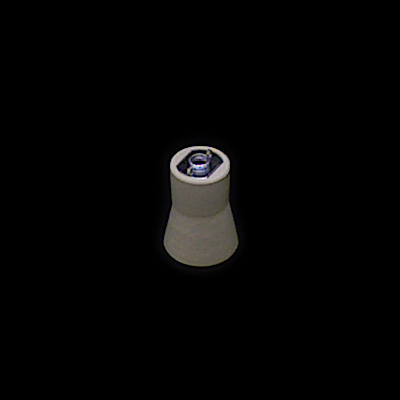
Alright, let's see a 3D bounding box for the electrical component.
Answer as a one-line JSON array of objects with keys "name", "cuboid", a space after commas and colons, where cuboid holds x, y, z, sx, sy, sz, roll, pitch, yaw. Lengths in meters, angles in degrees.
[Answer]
[{"name": "electrical component", "cuboid": [0.000, 0.000, 0.630, 0.044, 0.066, 0.044, 0, 41, 1]}]
